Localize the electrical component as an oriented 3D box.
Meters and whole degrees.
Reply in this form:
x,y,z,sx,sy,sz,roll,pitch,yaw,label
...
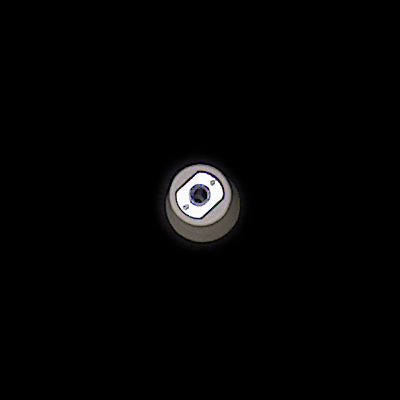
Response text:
x,y,z,sx,sy,sz,roll,pitch,yaw,label
0.000,0.000,0.626,0.044,0.044,0.065,0,-7,2,electrical component
